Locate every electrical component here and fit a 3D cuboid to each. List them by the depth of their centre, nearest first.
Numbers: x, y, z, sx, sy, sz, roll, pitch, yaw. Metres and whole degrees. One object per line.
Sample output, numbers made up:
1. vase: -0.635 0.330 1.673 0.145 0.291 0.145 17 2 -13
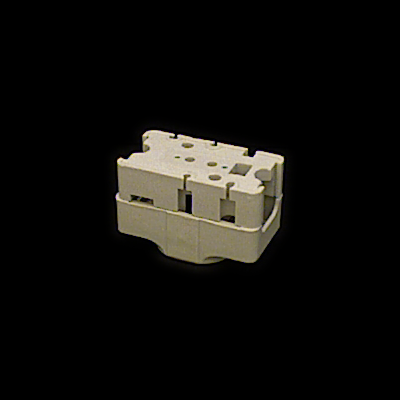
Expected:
1. electrical component: 0.000 0.000 0.643 0.089 0.056 0.050 13 34 18
